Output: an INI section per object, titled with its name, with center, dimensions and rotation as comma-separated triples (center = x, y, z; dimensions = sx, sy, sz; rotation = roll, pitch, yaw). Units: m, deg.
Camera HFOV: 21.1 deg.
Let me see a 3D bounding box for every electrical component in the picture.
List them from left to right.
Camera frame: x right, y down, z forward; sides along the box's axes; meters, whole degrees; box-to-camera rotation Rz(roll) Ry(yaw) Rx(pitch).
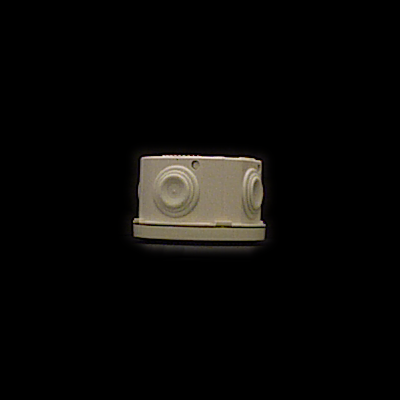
[electrical component]
center = 0.000, 0.000, 0.649
dimensions = 0.080, 0.051, 0.080
rotation = 2, 1, 0
